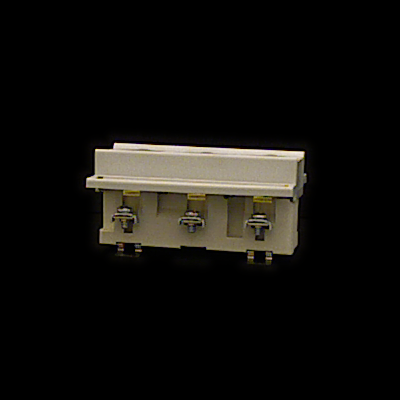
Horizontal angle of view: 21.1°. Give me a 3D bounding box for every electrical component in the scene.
[{"bbox_3d":[0.000,0.000,0.658,0.121,0.063,0.078,3,10,11],"label":"electrical component"}]
